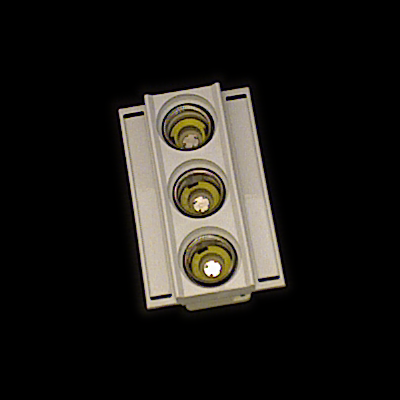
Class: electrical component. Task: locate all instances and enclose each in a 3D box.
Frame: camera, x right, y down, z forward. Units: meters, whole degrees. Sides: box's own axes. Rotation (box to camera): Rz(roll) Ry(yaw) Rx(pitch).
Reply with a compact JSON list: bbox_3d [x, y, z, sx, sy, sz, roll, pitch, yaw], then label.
[{"bbox_3d":[0.000,0.000,0.637,0.079,0.121,0.063,-9,-16,0],"label":"electrical component"}]
